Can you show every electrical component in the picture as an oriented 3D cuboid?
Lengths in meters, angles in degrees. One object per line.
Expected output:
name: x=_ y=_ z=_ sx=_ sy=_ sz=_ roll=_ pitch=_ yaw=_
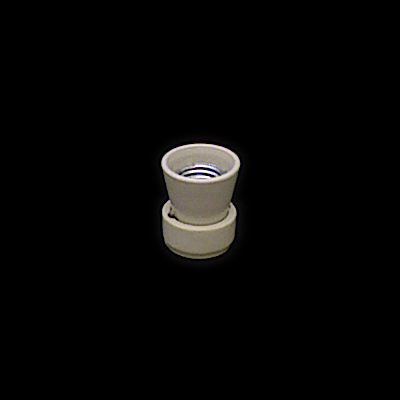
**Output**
electrical component: x=0.000 y=0.000 z=0.635 sx=0.045 sy=0.056 sz=0.044 roll=1 pitch=32 yaw=0
